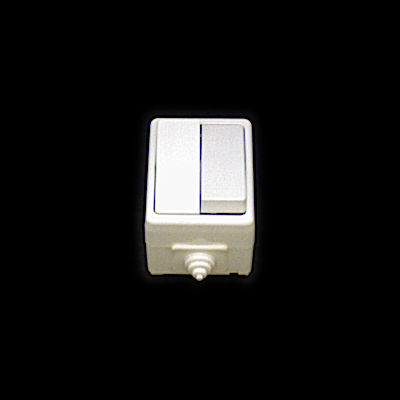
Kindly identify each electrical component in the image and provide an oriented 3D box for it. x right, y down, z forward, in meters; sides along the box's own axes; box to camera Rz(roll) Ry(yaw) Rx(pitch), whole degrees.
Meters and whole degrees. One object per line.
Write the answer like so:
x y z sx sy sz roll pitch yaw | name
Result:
0.000 0.000 0.626 0.062 0.096 0.061 1 -38 0 | electrical component
